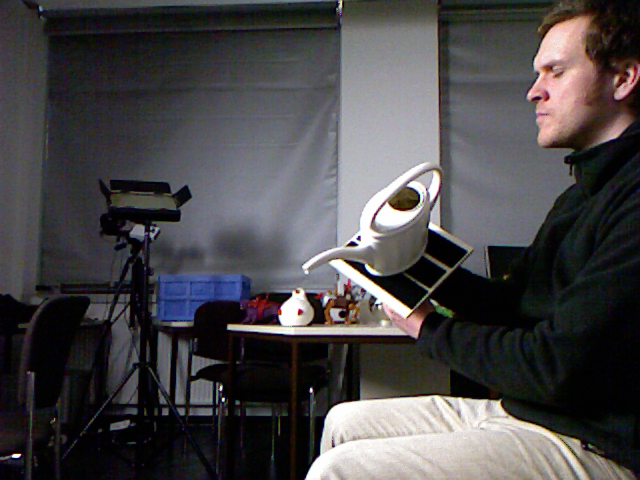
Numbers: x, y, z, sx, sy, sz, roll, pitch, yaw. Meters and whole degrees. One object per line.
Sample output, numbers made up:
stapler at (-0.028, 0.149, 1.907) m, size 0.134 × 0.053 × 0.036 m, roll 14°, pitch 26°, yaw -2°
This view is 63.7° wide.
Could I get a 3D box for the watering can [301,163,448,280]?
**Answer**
watering can at (0.110, -0.005, 0.943) m, size 0.352 × 0.220 × 0.106 m, roll -37°, pitch 56°, yaw -20°
